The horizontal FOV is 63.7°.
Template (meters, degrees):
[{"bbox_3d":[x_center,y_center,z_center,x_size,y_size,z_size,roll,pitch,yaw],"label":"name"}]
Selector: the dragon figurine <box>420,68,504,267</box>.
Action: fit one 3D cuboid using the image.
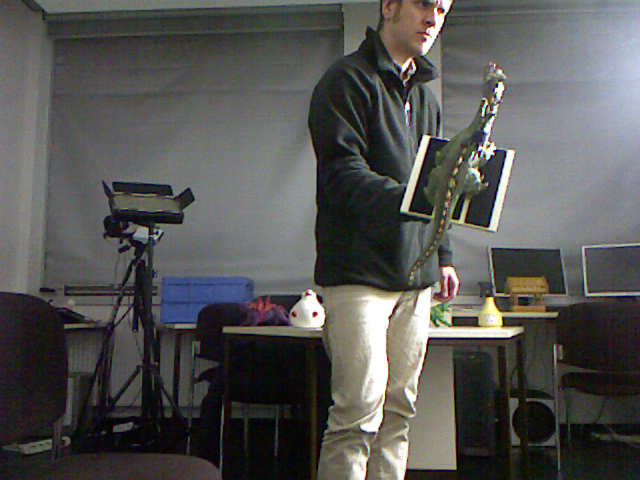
[{"bbox_3d":[0.285,-0.158,1.025,0.123,0.417,0.239,18,-18,12],"label":"dragon figurine"}]
